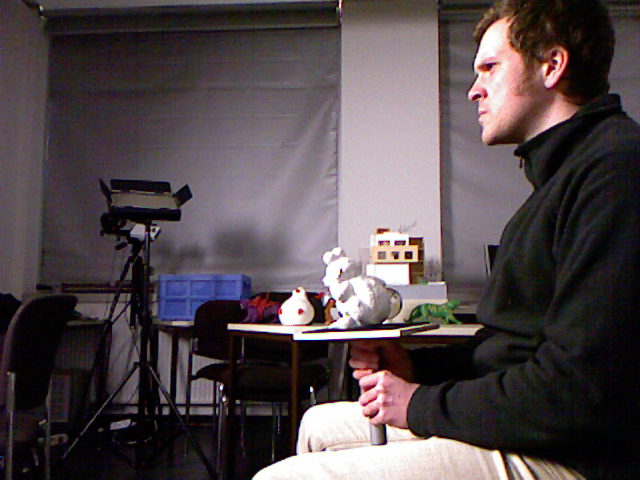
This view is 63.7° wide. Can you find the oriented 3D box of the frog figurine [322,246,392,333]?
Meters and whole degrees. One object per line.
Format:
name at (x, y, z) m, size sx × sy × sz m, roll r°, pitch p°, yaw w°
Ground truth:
frog figurine at (0.069, 0.089, 0.964) m, size 0.138 × 0.160 × 0.122 m, roll -5°, pitch -1°, yaw -37°
